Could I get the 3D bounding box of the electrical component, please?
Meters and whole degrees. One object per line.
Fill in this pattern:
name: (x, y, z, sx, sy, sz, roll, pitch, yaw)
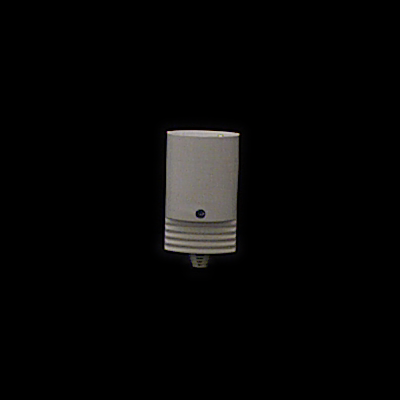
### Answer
electrical component: (0.000, 0.000, 0.644, 0.043, 0.082, 0.042, 2, 12, 0)
